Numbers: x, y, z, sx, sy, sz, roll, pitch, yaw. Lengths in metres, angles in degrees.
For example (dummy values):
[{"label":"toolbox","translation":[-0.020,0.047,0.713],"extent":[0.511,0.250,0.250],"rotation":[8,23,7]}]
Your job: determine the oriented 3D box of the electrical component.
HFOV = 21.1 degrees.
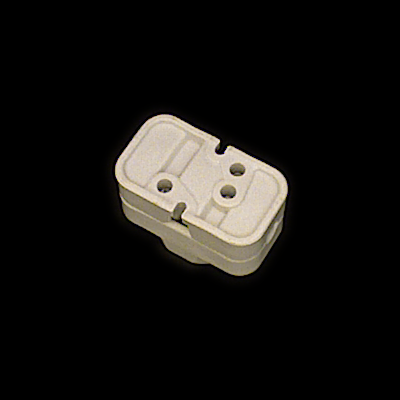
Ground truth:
[{"label":"electrical component","translation":[0.000,0.000,0.636],"extent":[0.095,0.054,0.059],"rotation":[28,-23,14]}]
